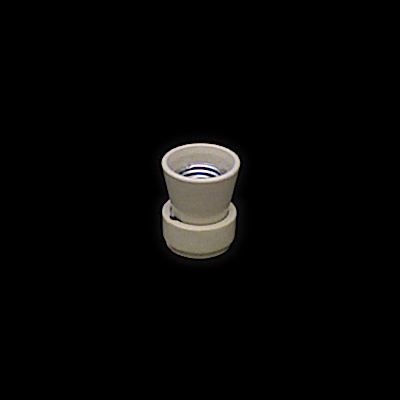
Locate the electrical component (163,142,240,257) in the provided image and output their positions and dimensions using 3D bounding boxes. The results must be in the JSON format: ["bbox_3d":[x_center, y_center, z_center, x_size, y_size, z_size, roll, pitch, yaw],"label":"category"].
[{"bbox_3d":[0.000,0.000,0.635,0.045,0.056,0.044,1,32,0],"label":"electrical component"}]
